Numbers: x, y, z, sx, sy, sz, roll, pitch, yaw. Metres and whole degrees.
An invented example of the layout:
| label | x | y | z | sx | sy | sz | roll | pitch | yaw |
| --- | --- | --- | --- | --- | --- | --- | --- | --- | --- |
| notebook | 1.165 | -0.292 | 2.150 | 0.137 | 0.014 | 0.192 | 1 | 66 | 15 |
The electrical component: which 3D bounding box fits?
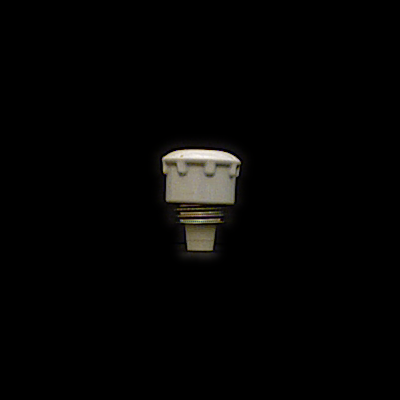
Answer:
| label | x | y | z | sx | sy | sz | roll | pitch | yaw |
| --- | --- | --- | --- | --- | --- | --- | --- | --- | --- |
| electrical component | 0.000 | 0.000 | 0.656 | 0.048 | 0.062 | 0.048 | 2 | 2 | 1 |
